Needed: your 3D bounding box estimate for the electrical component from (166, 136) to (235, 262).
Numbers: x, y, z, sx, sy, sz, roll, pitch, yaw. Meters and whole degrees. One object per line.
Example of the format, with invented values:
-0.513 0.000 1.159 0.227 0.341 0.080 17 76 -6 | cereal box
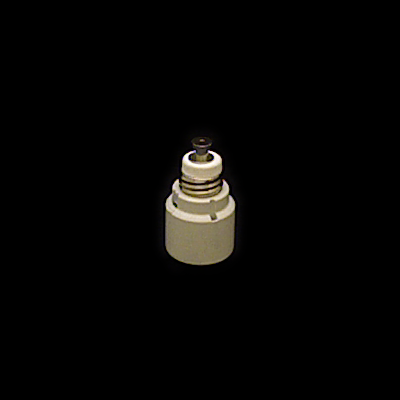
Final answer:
0.000 0.000 0.631 0.040 0.079 0.039 2 32 -1 | electrical component
